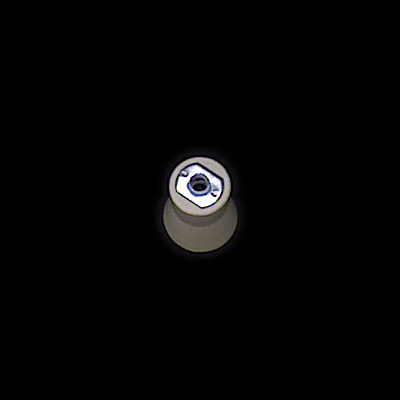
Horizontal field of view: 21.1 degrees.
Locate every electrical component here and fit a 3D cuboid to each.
[{"bbox_3d":[0.000,0.000,0.625,0.044,0.044,0.065,0,-18,0],"label":"electrical component"}]
